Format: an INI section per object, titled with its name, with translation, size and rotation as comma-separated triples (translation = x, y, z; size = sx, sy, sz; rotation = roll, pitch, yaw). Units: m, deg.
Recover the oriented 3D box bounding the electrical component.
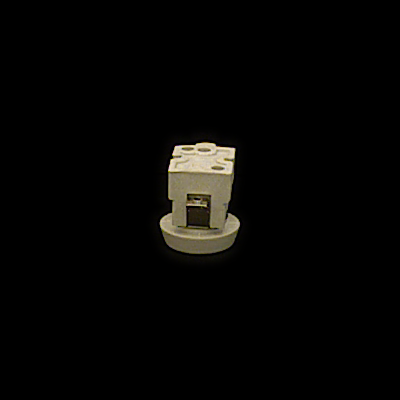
[electrical component]
translation = 0.000, 0.000, 0.648
size = 0.048, 0.056, 0.066
rotation = 4, 23, 3
